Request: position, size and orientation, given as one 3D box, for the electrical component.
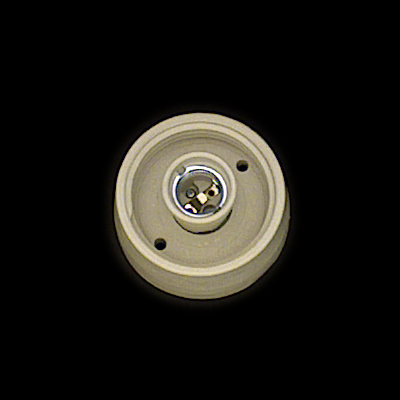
[{"bbox_3d":[0.000,0.000,0.633,0.108,0.108,0.060,0,-16,0],"label":"electrical component"}]
